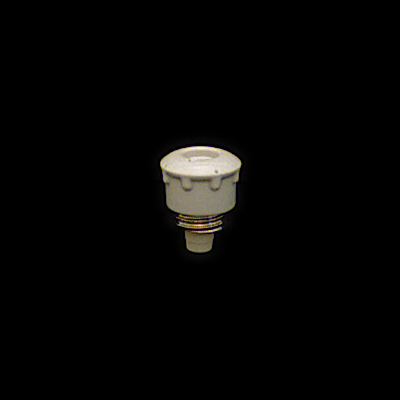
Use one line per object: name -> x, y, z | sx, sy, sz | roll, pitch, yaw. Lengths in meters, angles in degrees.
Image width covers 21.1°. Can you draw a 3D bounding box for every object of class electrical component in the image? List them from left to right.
electrical component -> 0.000, 0.000, 0.645 | 0.048, 0.062, 0.047 | 1, 22, 0
